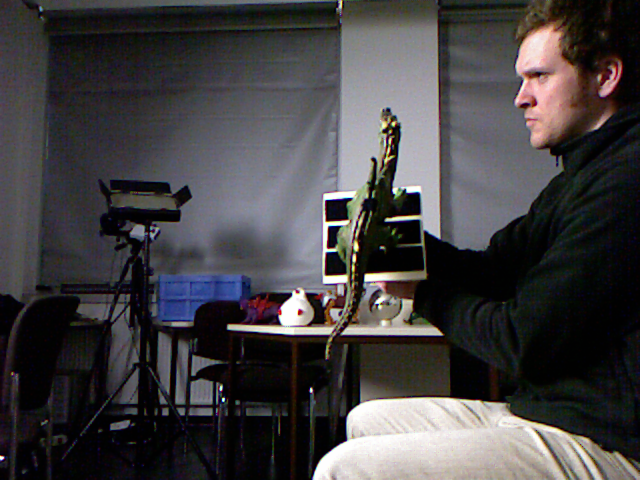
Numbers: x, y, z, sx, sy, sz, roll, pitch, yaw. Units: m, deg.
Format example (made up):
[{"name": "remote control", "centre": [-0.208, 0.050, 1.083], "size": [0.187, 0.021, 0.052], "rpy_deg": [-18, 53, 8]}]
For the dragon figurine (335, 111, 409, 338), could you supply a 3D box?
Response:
[{"name": "dragon figurine", "centre": [0.083, -0.036, 0.921], "size": [0.123, 0.418, 0.240], "rpy_deg": [12, -17, 11]}]
